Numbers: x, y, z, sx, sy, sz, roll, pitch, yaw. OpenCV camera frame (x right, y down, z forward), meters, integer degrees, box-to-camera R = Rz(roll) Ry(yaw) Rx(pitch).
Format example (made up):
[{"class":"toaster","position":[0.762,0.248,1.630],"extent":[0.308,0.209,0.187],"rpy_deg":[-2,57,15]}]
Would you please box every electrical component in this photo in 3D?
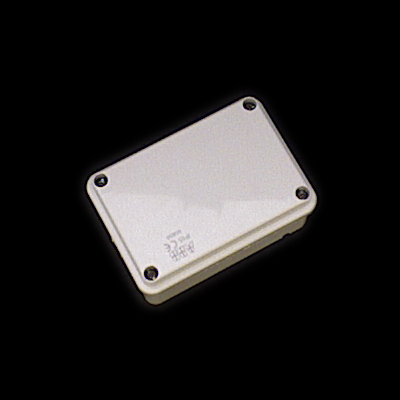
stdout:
[{"class":"electrical component","position":[0.000,0.000,0.626],"extent":[0.113,0.078,0.057],"rpy_deg":[-28,-15,-8]}]
